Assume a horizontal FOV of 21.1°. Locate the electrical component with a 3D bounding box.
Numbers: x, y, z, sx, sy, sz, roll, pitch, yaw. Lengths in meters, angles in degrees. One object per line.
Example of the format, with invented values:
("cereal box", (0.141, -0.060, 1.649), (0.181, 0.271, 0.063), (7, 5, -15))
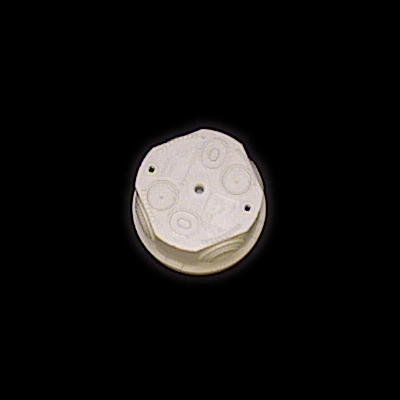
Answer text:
("electrical component", (0.000, 0.000, 0.632), (0.080, 0.080, 0.050), (0, -17, -1))
